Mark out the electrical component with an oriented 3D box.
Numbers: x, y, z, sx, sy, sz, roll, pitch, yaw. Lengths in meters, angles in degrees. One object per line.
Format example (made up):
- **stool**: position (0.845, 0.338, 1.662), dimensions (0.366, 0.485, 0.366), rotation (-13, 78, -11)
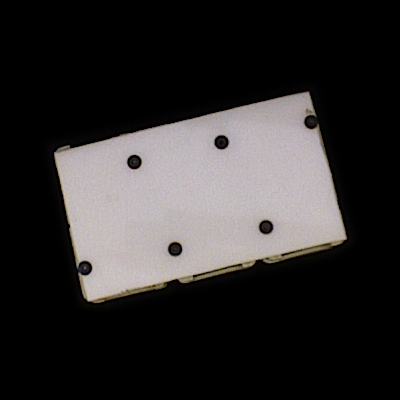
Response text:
- **electrical component**: position (0.000, 0.000, 0.631), dimensions (0.150, 0.089, 0.061), rotation (-13, -6, -1)
